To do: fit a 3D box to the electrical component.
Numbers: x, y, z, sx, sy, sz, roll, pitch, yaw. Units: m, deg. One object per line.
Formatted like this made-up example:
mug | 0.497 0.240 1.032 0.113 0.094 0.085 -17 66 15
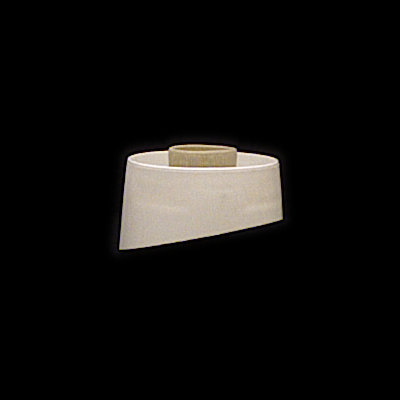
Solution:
electrical component | 0.000 0.000 0.644 0.099 0.064 0.098 1 10 0
